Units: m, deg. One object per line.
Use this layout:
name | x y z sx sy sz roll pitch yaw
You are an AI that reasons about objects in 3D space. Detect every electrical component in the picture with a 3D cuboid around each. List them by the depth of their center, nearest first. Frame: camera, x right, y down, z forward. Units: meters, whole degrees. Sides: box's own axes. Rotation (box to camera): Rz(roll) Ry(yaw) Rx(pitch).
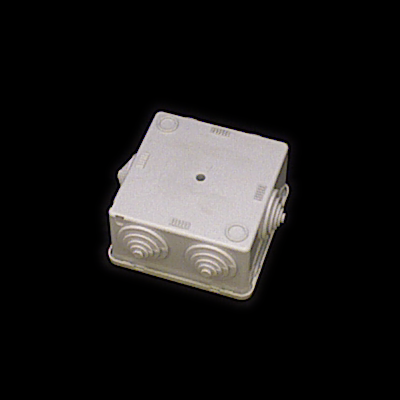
electrical component | 0.000 0.000 0.632 0.099 0.099 0.049 15 -36 11
